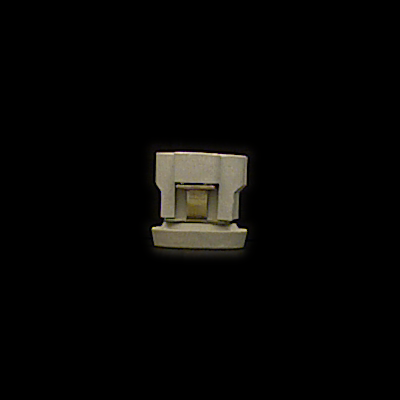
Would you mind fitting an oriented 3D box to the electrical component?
[{"bbox_3d":[0.000,0.000,0.655,0.058,0.057,0.078,2,2,5],"label":"electrical component"}]
